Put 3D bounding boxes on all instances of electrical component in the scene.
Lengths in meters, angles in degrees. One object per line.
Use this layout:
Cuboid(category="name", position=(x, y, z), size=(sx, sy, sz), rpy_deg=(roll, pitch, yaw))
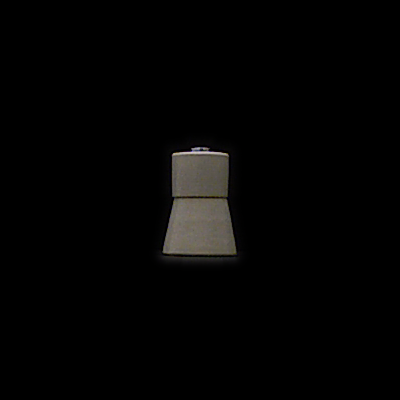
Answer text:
Cuboid(category="electrical component", position=(0.000, 0.000, 0.650), size=(0.044, 0.065, 0.044), rpy_deg=(0, 1, 0))
